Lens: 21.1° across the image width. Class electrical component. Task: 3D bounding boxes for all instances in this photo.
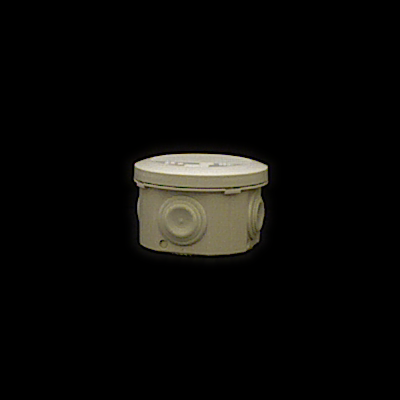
[{"bbox_3d":[0.000,0.000,0.645,0.080,0.051,0.079,1,10,0],"label":"electrical component"}]
